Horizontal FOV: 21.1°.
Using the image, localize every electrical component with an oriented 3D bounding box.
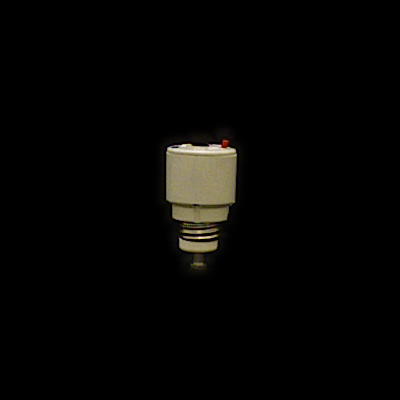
[{"bbox_3d":[0.000,0.000,0.641,0.040,0.079,0.040,2,11,0],"label":"electrical component"}]
